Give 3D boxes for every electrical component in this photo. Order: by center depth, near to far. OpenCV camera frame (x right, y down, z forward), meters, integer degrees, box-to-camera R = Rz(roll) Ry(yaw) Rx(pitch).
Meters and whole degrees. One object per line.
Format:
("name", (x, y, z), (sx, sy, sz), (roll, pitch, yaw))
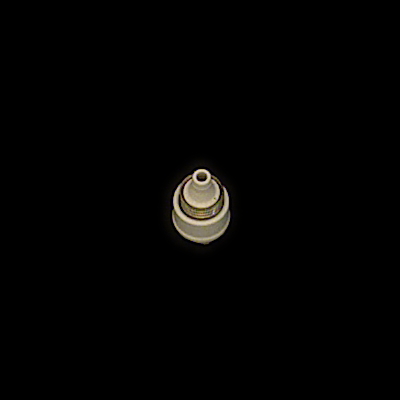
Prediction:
("electrical component", (0.000, 0.000, 0.638), (0.035, 0.035, 0.061), (0, -27, -1))
